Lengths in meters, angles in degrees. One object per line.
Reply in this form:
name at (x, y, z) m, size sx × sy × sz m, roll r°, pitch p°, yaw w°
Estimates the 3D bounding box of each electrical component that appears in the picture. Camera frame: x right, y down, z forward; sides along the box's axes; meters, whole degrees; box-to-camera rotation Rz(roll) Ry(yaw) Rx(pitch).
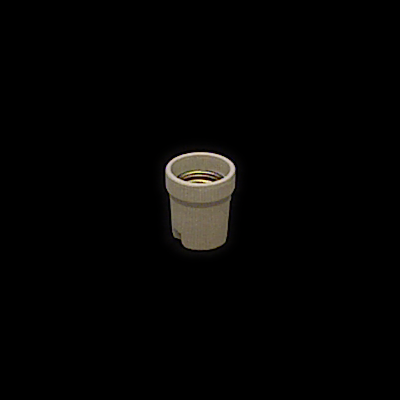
electrical component at (0.000, 0.000, 0.636) m, size 0.040 × 0.047 × 0.039 m, roll 1°, pitch 32°, yaw 0°
